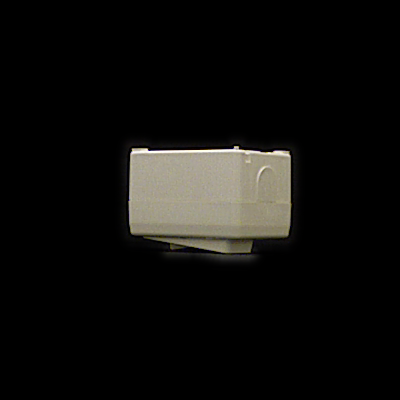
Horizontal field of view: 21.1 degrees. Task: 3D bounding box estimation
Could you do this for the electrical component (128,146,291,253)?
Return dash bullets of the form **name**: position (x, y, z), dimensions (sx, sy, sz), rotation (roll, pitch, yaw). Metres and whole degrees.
- **electrical component**: position (0.000, 0.000, 0.653), dimensions (0.095, 0.061, 0.062), rotation (2, 1, 35)
